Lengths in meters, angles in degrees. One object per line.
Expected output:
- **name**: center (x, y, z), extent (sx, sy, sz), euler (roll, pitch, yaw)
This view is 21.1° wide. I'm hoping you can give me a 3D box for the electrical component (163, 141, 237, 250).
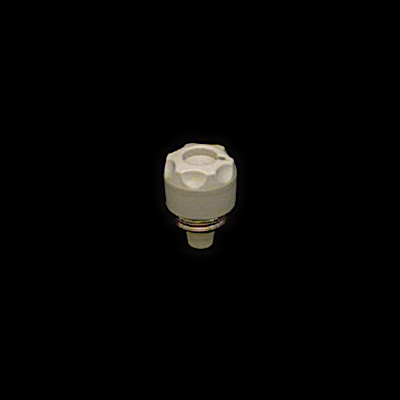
- **electrical component**: center (0.000, 0.000, 0.641), extent (0.043, 0.063, 0.043), euler (0, 32, 1)
